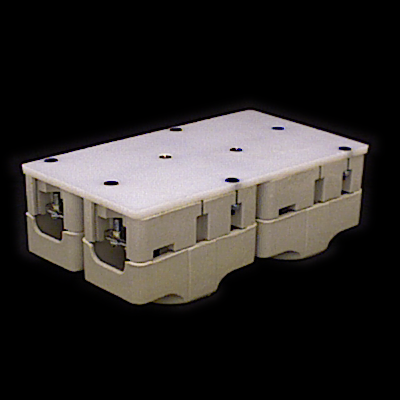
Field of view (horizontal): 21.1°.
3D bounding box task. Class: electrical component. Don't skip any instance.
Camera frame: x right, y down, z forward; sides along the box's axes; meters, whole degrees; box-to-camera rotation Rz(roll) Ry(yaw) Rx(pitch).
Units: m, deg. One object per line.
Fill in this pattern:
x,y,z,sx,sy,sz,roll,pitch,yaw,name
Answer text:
0.000,0.000,0.638,0.186,0.061,0.104,-17,27,-40,electrical component
